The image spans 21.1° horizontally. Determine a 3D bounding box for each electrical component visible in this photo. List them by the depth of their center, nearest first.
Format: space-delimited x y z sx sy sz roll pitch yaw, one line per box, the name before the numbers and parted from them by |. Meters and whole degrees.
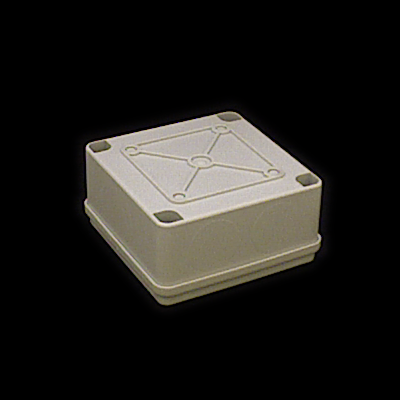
electrical component | 0.000 0.000 0.636 0.108 0.057 0.107 -15 36 -25
